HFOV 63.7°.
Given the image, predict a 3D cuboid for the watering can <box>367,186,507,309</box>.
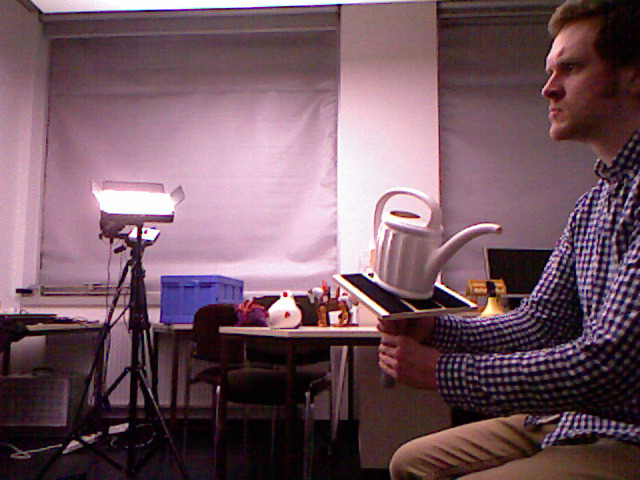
[{"bbox_3d":[0.186,0.023,0.941,0.104,0.222,0.351,-5,18,-28],"label":"watering can"}]
